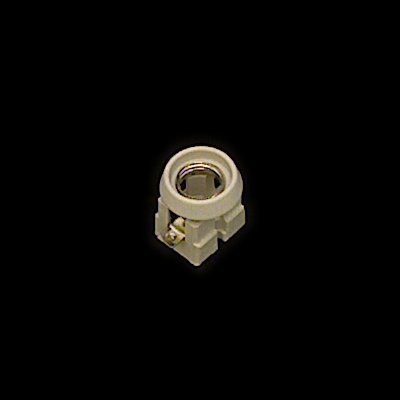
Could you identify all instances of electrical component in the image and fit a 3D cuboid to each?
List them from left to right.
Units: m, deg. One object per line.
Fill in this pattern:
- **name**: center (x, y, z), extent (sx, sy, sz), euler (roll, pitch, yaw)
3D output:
- **electrical component**: center (0.000, 0.000, 0.637), extent (0.048, 0.055, 0.067), euler (34, 60, 25)
